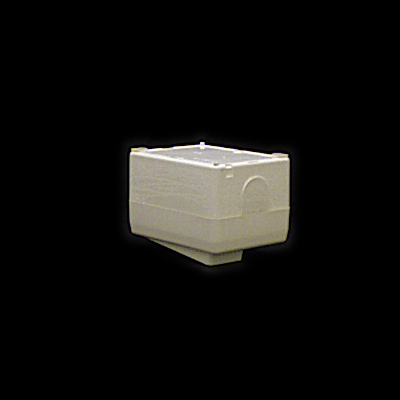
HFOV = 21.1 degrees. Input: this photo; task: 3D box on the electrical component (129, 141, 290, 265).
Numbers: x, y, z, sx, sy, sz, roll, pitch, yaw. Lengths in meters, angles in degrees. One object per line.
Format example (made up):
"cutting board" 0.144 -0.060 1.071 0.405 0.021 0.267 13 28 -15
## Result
"electrical component" 0.000 0.000 0.649 0.062 0.061 0.095 -9 15 -41
